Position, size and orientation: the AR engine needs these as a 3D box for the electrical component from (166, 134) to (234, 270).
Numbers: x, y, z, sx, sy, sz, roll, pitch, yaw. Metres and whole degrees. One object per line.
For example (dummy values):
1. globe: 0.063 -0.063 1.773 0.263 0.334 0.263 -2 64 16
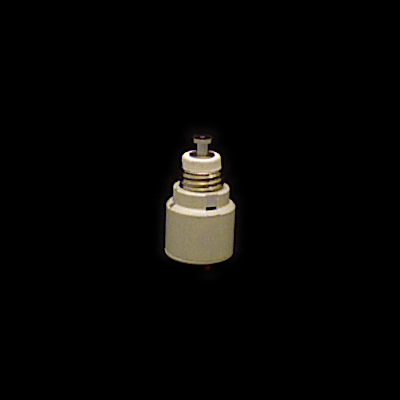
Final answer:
1. electrical component: 0.000 0.000 0.635 0.040 0.079 0.039 2 20 0
